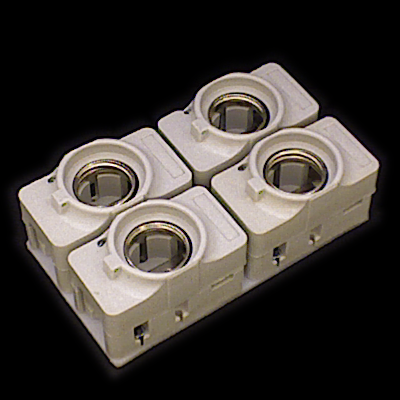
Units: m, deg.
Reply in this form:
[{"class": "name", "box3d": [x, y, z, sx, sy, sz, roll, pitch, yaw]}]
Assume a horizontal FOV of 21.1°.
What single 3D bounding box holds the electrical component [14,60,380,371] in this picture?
[{"class": "electrical component", "box3d": [0.000, 0.000, 0.626, 0.186, 0.105, 0.060, -29, -32, -20]}]
